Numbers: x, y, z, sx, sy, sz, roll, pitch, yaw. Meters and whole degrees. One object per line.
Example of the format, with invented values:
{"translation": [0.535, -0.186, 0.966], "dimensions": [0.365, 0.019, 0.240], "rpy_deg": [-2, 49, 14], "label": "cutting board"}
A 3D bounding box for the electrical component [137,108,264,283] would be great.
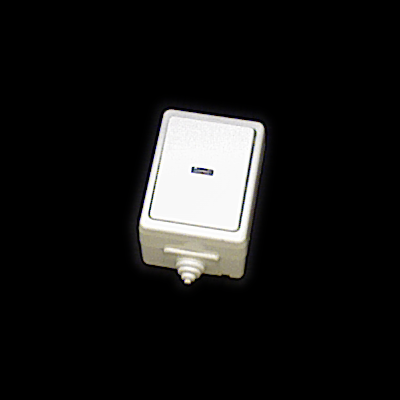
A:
{"translation": [0.000, 0.000, 0.625], "dimensions": [0.062, 0.096, 0.060], "rpy_deg": [9, -27, 5], "label": "electrical component"}
